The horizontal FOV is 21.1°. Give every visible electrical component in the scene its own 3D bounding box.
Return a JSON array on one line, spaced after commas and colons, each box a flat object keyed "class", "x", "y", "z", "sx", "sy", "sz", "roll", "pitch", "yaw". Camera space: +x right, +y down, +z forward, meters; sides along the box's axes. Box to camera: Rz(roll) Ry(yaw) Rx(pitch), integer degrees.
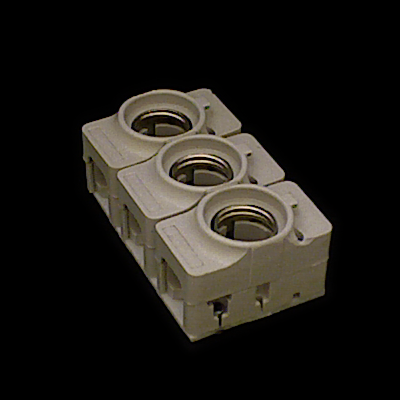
[{"class": "electrical component", "x": 0.000, "y": 0.000, "z": 0.637, "sx": 0.089, "sy": 0.063, "sz": 0.147, "roll": -19, "pitch": 46, "yaw": -21}]
